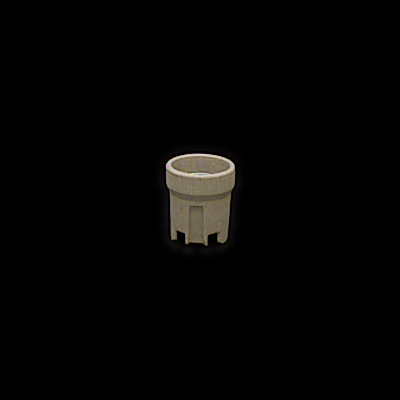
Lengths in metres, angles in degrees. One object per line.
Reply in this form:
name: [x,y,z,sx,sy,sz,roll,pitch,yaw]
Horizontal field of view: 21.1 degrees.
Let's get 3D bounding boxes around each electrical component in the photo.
electrical component: [0.000,0.000,0.638,0.040,0.047,0.039,1,21,0]
